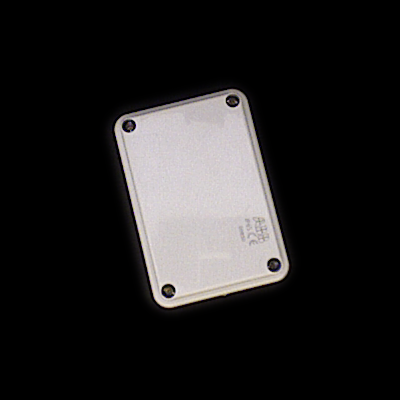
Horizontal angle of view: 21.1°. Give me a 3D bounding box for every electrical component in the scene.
[{"bbox_3d":[0.000,0.000,0.628,0.078,0.113,0.057,-14,-7,-1],"label":"electrical component"}]
